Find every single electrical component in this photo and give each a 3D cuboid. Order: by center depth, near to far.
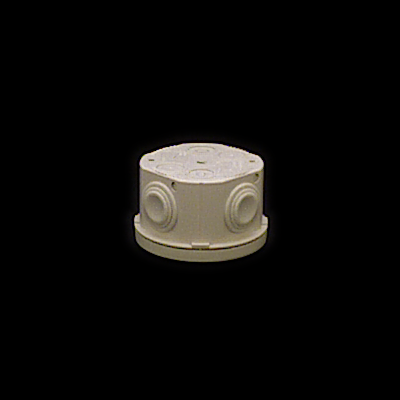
[{"bbox_3d":[0.000,0.000,0.640,0.080,0.051,0.079,0,21,0],"label":"electrical component"}]
